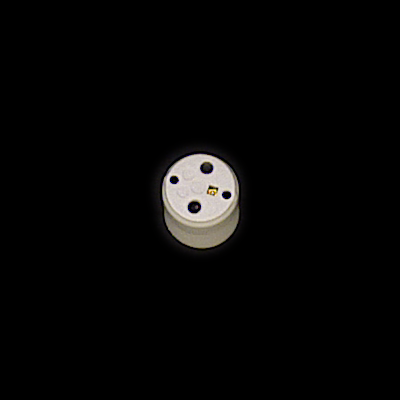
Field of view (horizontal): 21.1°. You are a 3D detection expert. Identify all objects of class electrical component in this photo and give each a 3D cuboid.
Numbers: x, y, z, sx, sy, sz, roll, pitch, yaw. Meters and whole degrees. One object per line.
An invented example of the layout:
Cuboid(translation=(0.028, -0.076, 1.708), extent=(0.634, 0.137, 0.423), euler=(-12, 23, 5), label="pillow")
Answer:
Cuboid(translation=(0.000, 0.000, 0.628), extent=(0.045, 0.045, 0.055), euler=(0, -16, 1), label="electrical component")
